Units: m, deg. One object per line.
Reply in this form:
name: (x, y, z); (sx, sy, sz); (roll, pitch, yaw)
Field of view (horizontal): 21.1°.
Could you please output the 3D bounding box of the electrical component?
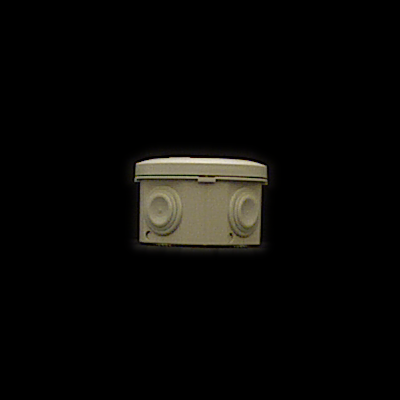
electrical component: (0.000, 0.000, 0.651); (0.080, 0.051, 0.080); (1, 0, 0)
